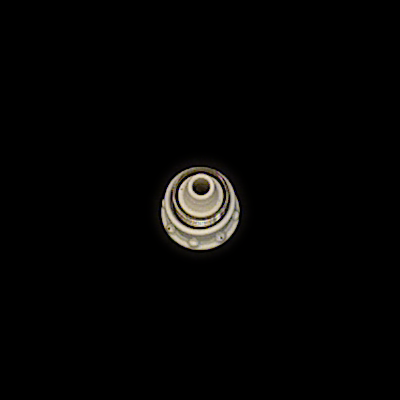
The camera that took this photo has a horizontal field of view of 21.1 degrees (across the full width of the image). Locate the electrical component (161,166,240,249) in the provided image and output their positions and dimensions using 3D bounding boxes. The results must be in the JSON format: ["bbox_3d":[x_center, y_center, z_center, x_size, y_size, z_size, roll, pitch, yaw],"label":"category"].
[{"bbox_3d":[0.000,0.000,0.633,0.048,0.048,0.061,0,-16,-1],"label":"electrical component"}]
